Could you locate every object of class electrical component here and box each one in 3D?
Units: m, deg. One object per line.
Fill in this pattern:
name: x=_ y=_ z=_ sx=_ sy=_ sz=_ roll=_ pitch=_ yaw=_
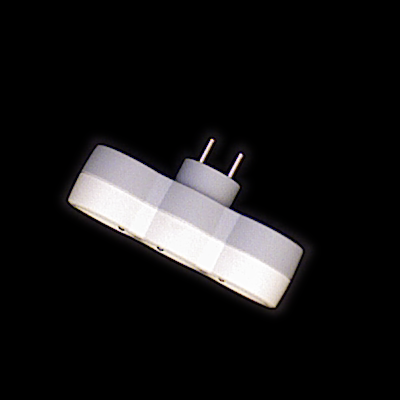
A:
electrical component: x=0.000 y=0.000 z=0.632 sx=0.138 sy=0.074 sz=0.052 roll=27 pitch=-8 yaw=4
